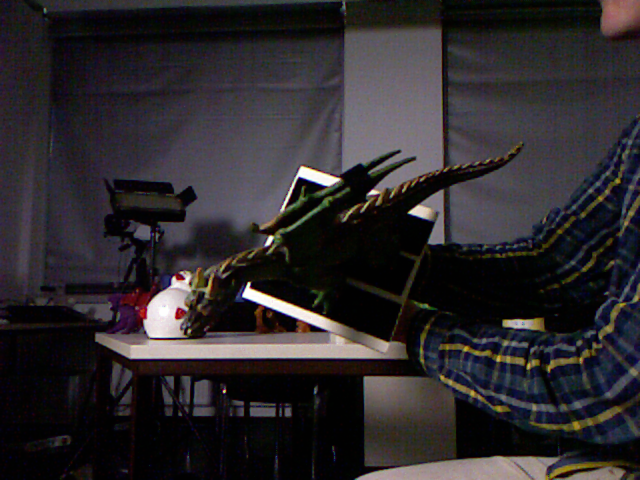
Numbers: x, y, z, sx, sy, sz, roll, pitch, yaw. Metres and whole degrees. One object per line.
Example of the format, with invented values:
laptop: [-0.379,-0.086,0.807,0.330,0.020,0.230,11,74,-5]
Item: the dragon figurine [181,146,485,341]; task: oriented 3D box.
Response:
dragon figurine: [0.026,-0.022,0.567,0.412,0.124,0.240,-35,-16,-3]
